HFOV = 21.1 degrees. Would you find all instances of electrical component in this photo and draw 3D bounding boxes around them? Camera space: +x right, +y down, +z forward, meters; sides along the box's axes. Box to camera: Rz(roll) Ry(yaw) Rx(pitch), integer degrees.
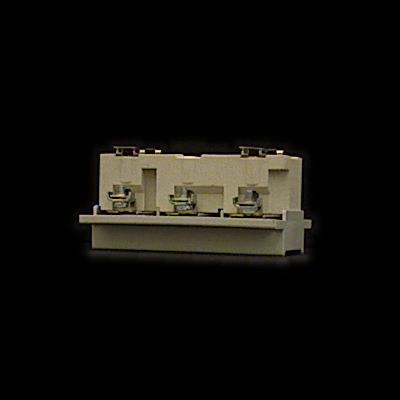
[{"bbox_3d":[0.000,0.000,0.654,0.121,0.063,0.079,1,1,20],"label":"electrical component"}]
